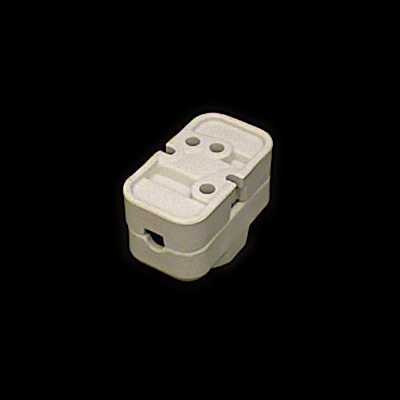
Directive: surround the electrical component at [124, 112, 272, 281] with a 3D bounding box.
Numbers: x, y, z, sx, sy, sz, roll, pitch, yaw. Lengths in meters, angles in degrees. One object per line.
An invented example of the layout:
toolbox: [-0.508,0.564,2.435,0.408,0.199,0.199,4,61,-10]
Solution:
electrical component: [0.000,0.000,0.638,0.053,0.060,0.095,24,48,23]
